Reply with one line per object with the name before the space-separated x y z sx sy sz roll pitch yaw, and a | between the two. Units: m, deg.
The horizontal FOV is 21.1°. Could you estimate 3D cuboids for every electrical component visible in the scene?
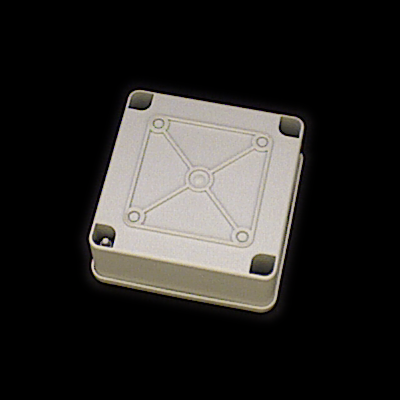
electrical component | 0.000 0.000 0.627 0.108 0.109 0.056 10 -26 5
